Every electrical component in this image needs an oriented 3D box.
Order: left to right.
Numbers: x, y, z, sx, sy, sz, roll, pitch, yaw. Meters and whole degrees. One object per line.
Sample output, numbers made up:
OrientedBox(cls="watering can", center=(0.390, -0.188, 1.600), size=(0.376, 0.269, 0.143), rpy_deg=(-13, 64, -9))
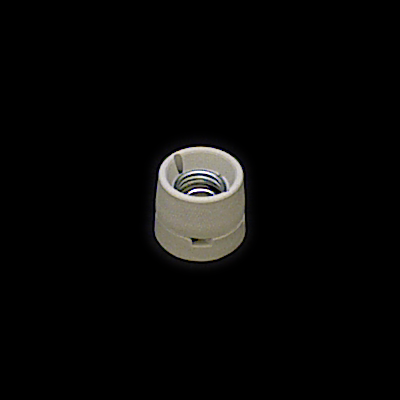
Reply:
OrientedBox(cls="electrical component", center=(0.000, 0.000, 0.635), size=(0.055, 0.047, 0.055), rpy_deg=(1, 43, -1))
